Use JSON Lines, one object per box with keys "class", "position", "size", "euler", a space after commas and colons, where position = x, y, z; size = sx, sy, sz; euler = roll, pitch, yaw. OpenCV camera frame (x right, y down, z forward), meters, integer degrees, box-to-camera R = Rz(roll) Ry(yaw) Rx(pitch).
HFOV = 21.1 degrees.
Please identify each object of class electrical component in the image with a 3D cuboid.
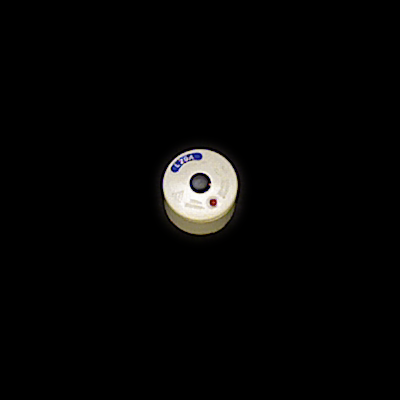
{"class": "electrical component", "position": [0.000, 0.000, 0.616], "size": [0.040, 0.040, 0.078], "euler": [0, -16, 0]}
